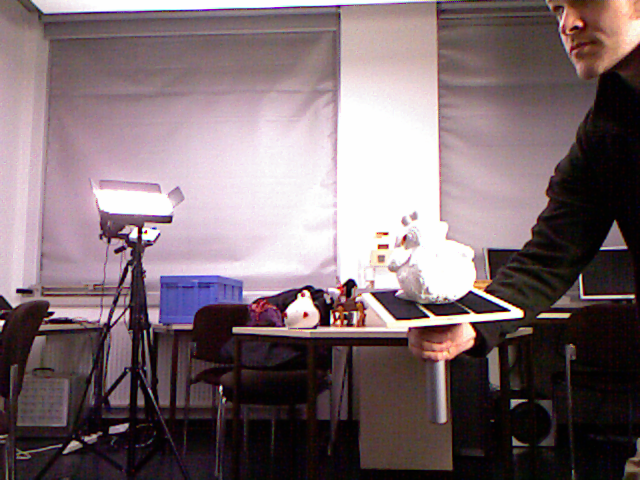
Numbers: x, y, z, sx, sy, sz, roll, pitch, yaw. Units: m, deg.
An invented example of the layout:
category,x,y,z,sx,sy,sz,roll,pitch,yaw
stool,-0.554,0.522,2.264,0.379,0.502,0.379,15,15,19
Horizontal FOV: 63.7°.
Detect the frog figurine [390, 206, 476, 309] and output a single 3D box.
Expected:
category,x,y,z,sx,sy,sz,roll,pitch,yaw
frog figurine,0.184,0.027,0.844,0.137,0.158,0.124,-1,12,12
